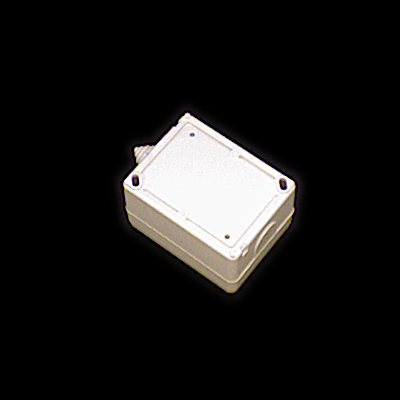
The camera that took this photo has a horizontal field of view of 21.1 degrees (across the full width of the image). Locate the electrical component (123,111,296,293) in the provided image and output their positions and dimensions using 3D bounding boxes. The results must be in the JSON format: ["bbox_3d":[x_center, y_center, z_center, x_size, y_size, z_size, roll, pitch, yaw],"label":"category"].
[{"bbox_3d":[0.000,0.000,0.629,0.096,0.062,0.061,34,-23,17],"label":"electrical component"}]
